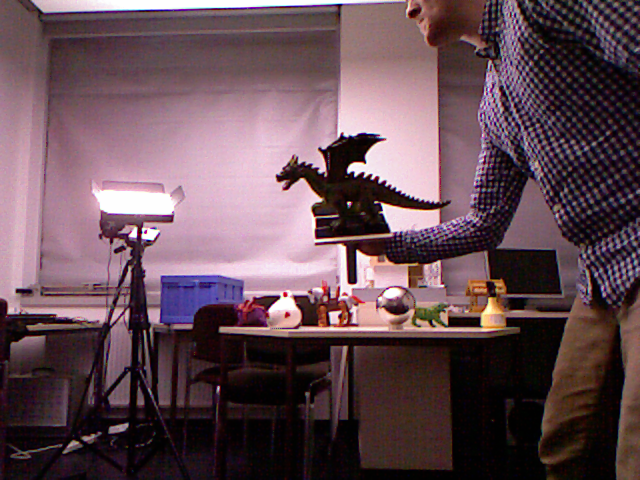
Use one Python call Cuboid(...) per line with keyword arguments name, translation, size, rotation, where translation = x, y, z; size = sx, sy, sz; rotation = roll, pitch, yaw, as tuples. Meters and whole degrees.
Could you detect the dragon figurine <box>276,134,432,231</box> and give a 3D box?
Cuboid(name="dragon figurine", translation=(0.092, -0.158, 1.329), size=(0.411, 0.237, 0.125), rotation=(-7, 38, -5))
